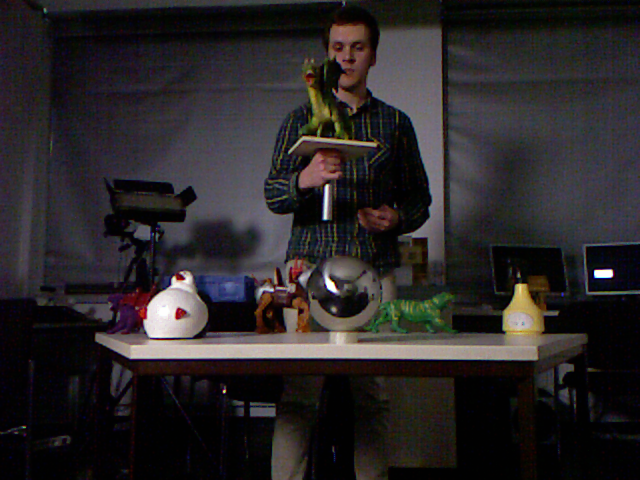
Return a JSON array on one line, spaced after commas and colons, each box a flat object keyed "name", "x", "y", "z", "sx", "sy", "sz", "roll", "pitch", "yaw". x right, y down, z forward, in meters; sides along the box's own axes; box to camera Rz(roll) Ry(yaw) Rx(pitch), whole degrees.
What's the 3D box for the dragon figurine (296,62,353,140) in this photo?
[{"name": "dragon figurine", "x": 0.041, "y": -0.391, "z": 1.472, "sx": 0.122, "sy": 0.243, "sz": 0.410, "roll": 4, "pitch": -1, "yaw": 25}]
